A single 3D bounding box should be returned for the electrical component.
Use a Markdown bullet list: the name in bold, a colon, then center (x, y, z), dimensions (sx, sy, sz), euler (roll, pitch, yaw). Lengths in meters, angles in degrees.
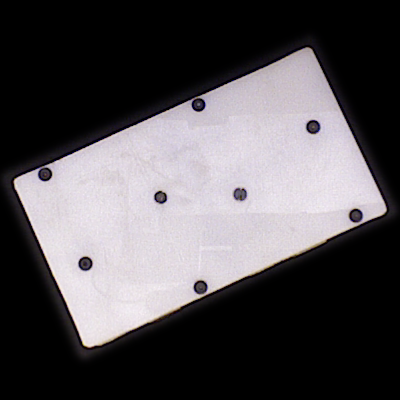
- **electrical component**: center (0.000, 0.000, 0.626), dimensions (0.186, 0.106, 0.060), euler (-24, -6, -3)
